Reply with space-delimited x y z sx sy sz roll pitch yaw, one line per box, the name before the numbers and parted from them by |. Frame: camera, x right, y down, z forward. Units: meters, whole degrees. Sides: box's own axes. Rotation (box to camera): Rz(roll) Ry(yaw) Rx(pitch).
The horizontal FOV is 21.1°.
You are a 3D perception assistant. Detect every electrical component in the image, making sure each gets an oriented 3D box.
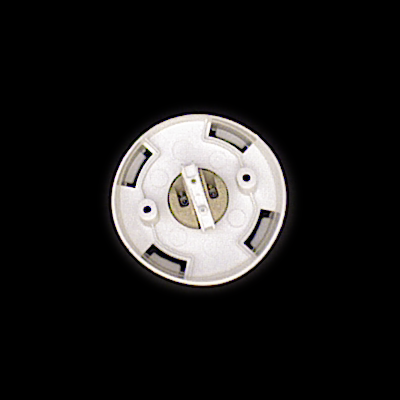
electrical component | 0.000 0.000 0.624 0.099 0.099 0.064 0 -6 -1
